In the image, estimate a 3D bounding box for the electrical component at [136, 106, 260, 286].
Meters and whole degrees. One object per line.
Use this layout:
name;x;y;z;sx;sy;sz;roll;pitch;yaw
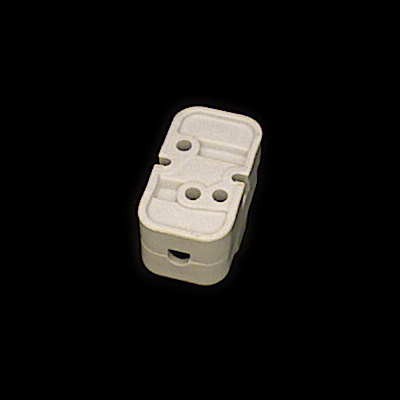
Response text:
electrical component;0.000;0.000;0.636;0.053;0.095;0.059;13;-37;9
